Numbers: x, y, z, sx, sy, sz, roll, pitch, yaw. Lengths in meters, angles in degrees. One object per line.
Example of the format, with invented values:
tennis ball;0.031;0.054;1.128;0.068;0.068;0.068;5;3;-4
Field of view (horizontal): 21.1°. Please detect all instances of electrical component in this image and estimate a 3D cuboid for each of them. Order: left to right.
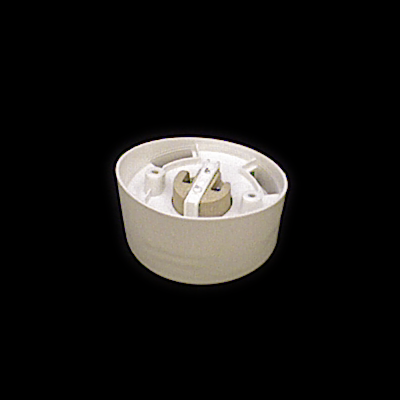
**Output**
electrical component;0.000;0.000;0.628;0.099;0.064;0.098;1;43;0
